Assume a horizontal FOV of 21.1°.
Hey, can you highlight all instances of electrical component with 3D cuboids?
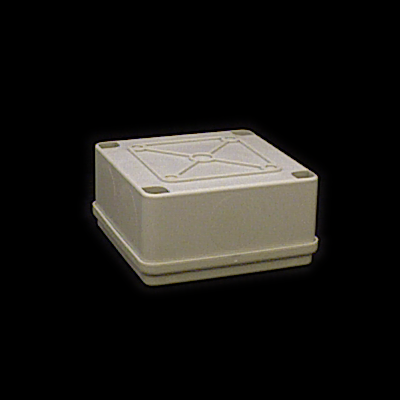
[{"bbox_3d":[0.000,0.000,0.642,0.109,0.057,0.107,-6,22,-20],"label":"electrical component"}]
